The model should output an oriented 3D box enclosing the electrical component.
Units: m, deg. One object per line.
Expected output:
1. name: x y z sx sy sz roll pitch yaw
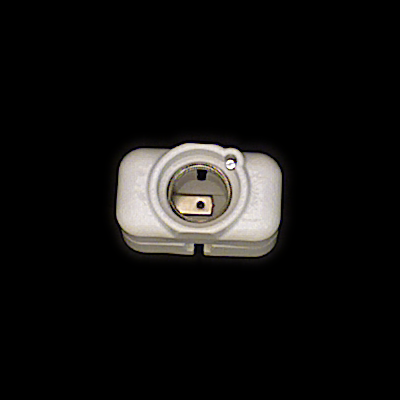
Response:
1. electrical component: 0.000 0.000 0.634 0.095 0.054 0.059 2 -16 0
